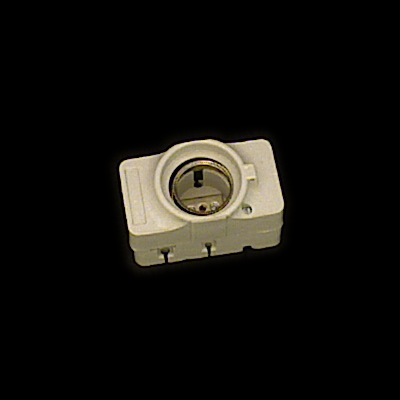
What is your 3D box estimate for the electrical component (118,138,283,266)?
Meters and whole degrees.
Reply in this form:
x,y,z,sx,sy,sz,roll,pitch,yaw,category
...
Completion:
x,y,z,sx,sy,sz,roll,pitch,yaw,category
0.000,0.000,0.635,0.090,0.050,0.055,-9,-26,-4,electrical component
